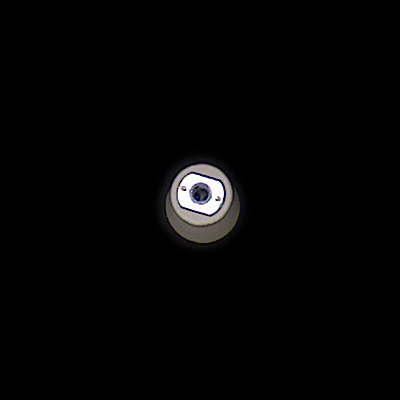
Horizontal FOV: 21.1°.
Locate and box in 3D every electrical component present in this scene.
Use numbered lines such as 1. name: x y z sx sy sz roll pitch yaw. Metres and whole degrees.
1. electrical component: 0.000 0.000 0.626 0.044 0.044 0.065 0 -7 1
